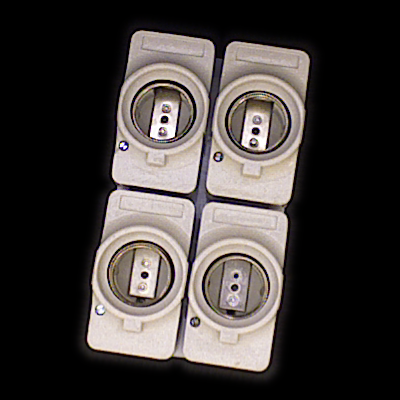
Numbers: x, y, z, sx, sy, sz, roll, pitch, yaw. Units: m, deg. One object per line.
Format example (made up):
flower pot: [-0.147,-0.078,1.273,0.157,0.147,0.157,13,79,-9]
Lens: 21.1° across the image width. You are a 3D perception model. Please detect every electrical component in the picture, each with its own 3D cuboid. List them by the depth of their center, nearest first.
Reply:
electrical component: [0.000,0.000,0.626,0.105,0.187,0.060,8,-7,1]
